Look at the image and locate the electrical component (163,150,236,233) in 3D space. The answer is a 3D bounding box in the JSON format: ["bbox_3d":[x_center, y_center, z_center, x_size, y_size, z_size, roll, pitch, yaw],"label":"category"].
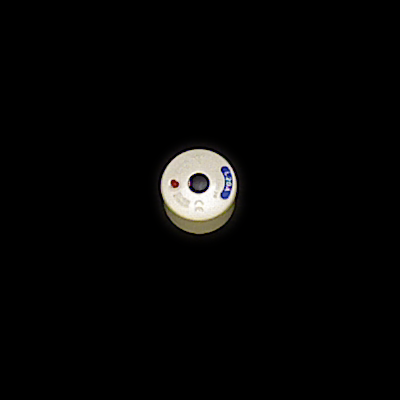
[{"bbox_3d":[0.000,0.000,0.617,0.040,0.040,0.078,0,-16,1],"label":"electrical component"}]
